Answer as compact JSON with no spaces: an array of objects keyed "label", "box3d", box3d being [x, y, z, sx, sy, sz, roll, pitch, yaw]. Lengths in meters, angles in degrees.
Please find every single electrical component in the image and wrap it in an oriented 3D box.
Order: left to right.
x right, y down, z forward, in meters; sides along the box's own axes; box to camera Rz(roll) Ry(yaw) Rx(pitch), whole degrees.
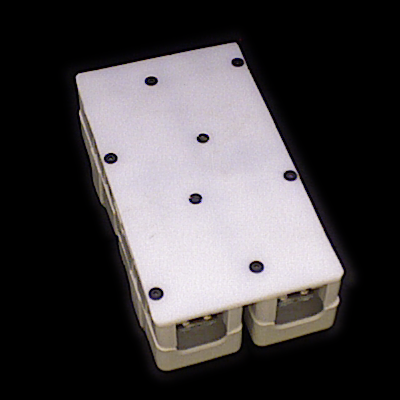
[{"label":"electrical component","box3d":[0.000,0.000,0.627,0.106,0.185,0.060,-14,-36,-11]}]
